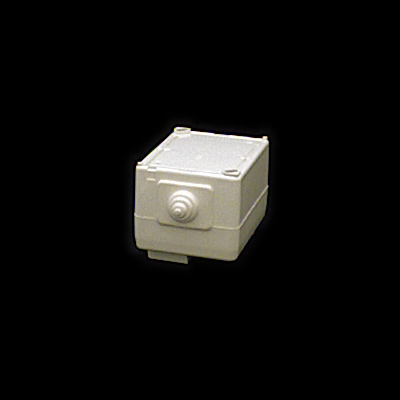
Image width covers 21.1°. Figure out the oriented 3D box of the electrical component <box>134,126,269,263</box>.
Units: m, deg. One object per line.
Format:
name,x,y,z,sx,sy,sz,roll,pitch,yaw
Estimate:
electrical component,0.000,0.000,0.631,0.061,0.061,0.095,7,21,14
